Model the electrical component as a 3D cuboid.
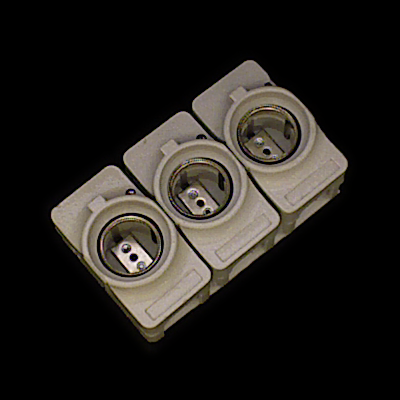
[{"bbox_3d":[0.000,0.000,0.631,0.150,0.089,0.062,-39,-14,-11],"label":"electrical component"}]
